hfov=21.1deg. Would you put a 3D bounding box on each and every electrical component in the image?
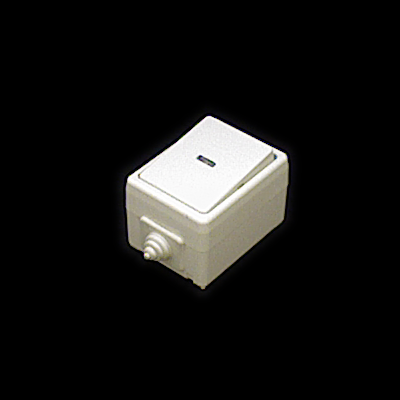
[{"bbox_3d":[0.000,0.000,0.629,0.061,0.061,0.096,29,49,28],"label":"electrical component"}]
